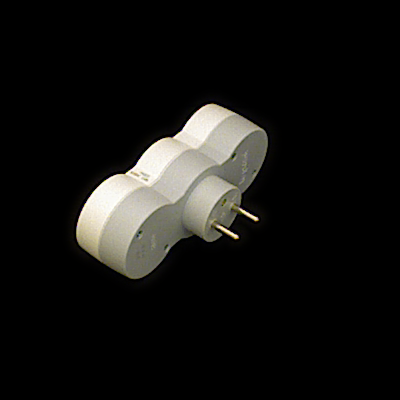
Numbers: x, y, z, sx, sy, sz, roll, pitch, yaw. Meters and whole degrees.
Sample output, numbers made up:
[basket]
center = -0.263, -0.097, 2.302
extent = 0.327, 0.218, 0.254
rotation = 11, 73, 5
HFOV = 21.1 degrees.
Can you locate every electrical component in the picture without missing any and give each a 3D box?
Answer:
[electrical component]
center = 0.000, 0.000, 0.639
extent = 0.073, 0.052, 0.138
rotation = 30, 50, 26
